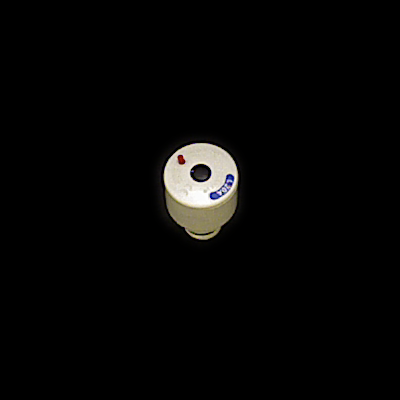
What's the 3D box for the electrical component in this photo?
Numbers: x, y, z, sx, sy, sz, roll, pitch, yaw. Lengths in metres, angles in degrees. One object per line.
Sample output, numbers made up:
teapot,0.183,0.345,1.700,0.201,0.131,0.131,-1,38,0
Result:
electrical component,0.000,0.000,0.619,0.040,0.040,0.078,0,-28,1
